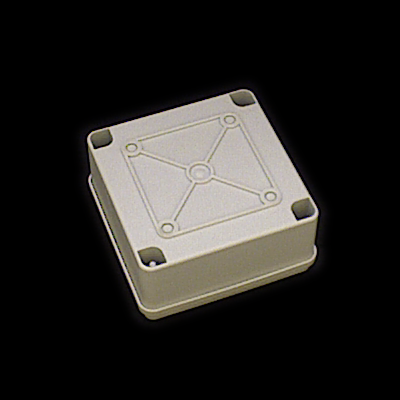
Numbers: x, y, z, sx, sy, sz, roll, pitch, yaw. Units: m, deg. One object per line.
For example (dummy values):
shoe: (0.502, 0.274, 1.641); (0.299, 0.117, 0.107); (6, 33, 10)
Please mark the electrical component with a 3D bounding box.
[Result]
electrical component: (0.000, 0.000, 0.627); (0.109, 0.108, 0.056); (-17, -35, -12)
